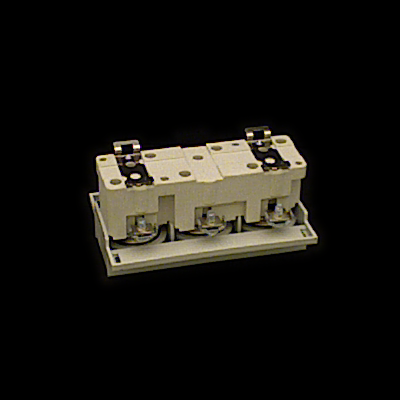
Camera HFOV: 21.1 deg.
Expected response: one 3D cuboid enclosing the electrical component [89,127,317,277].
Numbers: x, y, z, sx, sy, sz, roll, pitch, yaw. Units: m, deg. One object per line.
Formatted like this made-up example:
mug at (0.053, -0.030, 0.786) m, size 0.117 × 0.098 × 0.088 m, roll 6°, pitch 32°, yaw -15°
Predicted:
electrical component at (0.000, 0.000, 0.639) m, size 0.122 × 0.064 × 0.077 m, roll -7°, pitch 34°, yaw -13°
